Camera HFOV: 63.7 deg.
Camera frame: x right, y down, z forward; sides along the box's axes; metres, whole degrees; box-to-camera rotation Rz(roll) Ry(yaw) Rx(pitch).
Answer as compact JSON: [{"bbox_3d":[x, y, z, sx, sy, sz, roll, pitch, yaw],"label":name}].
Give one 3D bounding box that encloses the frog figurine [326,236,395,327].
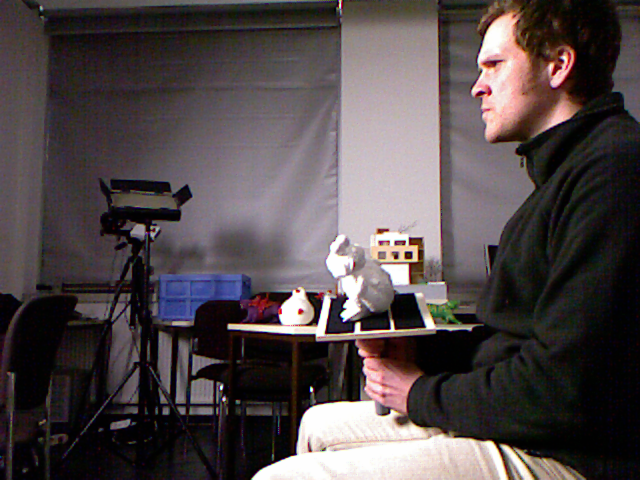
[{"bbox_3d":[0.075,0.066,0.946,0.123,0.158,0.139,2,17,23],"label":"frog figurine"}]
